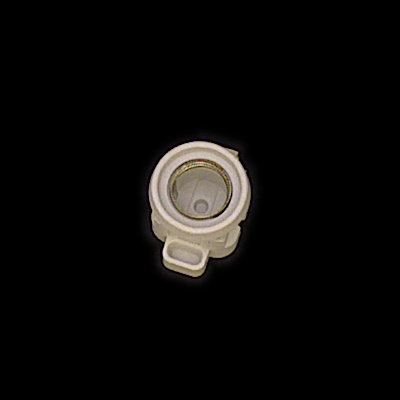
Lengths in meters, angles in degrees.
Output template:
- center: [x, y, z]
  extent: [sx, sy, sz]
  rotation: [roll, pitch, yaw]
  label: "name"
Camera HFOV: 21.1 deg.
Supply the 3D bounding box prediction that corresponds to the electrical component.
- center: [0.000, 0.000, 0.629]
  extent: [0.058, 0.079, 0.056]
  rotation: [17, -16, 5]
  label: "electrical component"
